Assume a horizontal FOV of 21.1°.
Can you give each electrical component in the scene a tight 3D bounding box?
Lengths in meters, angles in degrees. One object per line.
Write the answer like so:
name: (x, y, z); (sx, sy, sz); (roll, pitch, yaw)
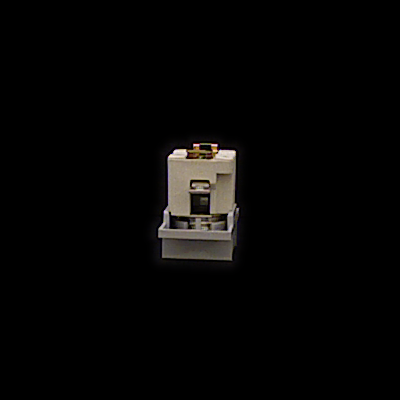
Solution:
electrical component: (0.000, 0.000, 0.644); (0.042, 0.064, 0.080); (2, 11, 4)
